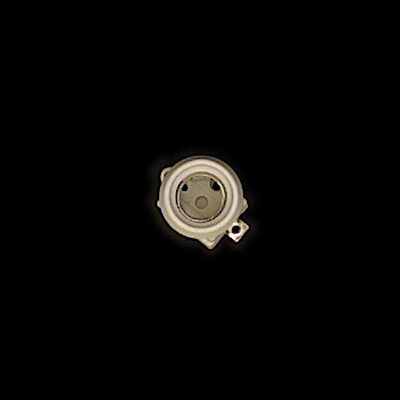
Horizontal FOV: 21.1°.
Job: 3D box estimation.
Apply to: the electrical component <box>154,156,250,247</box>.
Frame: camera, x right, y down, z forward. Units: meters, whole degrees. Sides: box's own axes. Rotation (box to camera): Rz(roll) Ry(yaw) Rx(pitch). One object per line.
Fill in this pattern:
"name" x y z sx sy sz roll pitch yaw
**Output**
"electrical component" 0.000 0.000 0.639 0.066 0.048 0.055 38 -2 4
